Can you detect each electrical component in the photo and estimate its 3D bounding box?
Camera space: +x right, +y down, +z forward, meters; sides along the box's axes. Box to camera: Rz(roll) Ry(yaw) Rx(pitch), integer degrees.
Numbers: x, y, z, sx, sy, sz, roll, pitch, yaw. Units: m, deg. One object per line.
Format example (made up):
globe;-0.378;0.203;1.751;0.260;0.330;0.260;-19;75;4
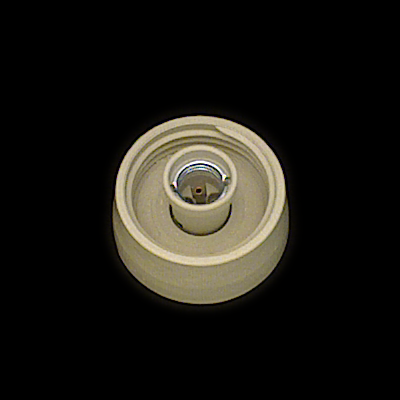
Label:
electrical component;0.000;0.000;0.634;0.108;0.108;0.060;0;-27;0
